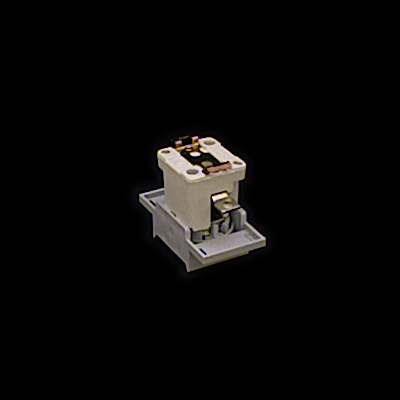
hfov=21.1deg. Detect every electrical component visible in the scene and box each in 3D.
[{"bbox_3d":[0.000,0.000,0.634,0.042,0.064,0.080,-17,36,-26],"label":"electrical component"}]
